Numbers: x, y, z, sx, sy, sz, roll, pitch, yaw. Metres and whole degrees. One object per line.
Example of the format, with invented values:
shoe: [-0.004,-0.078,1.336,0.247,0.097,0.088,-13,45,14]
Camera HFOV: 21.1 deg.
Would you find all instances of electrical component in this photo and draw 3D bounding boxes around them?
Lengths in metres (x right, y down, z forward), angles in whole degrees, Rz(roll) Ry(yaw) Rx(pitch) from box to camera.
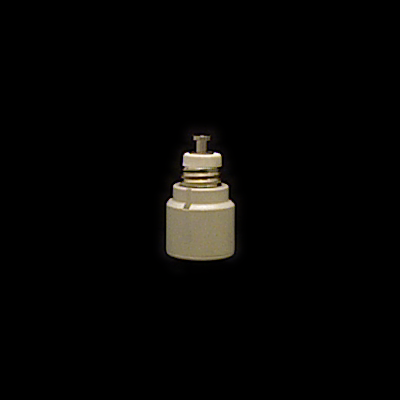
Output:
electrical component: [0.000,0.000,0.644,0.040,0.079,0.040,1,12,0]
